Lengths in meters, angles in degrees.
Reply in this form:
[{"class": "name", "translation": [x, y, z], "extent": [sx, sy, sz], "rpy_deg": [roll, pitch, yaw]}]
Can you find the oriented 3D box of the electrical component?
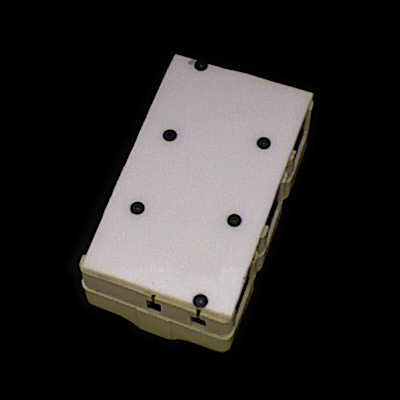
[{"class": "electrical component", "translation": [0.000, 0.000, 0.629], "extent": [0.089, 0.149, 0.062], "rpy_deg": [18, -25, 9]}]
